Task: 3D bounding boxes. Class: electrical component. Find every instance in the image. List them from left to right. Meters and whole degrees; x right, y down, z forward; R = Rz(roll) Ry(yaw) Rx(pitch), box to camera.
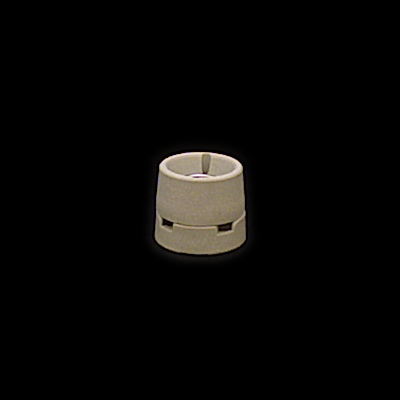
[{"bbox_3d":[0.000,0.000,0.640,0.055,0.047,0.055,0,22,0],"label":"electrical component"}]
